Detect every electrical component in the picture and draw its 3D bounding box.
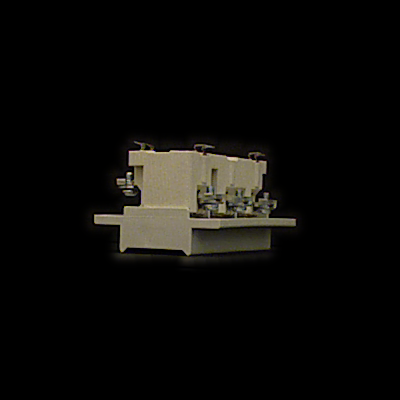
[{"bbox_3d":[0.000,0.000,0.657,0.078,0.063,0.122,2,1,25],"label":"electrical component"}]
